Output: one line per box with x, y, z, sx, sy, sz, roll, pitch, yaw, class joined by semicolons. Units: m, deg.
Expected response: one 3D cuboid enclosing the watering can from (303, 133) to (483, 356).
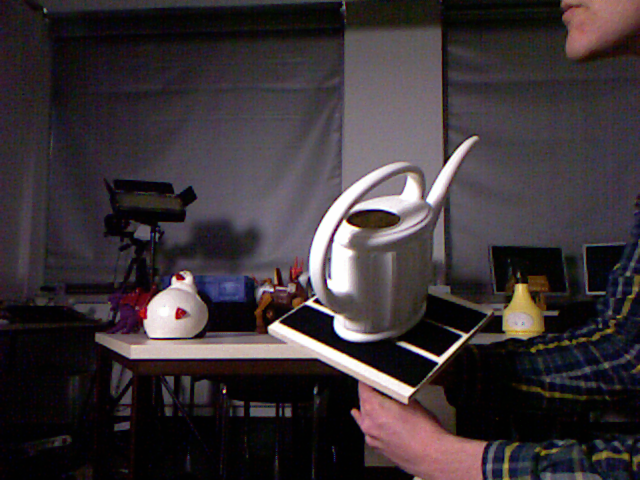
0.107;-0.001;0.635;0.106;0.221;0.355;23;37;36;watering can
